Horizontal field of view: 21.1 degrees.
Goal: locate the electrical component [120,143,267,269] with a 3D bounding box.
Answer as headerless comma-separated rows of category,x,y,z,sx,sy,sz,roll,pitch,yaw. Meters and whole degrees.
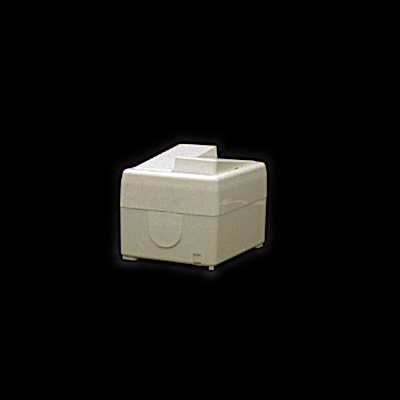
electrical component,0.000,0.000,0.647,0.061,0.061,0.096,6,12,25
